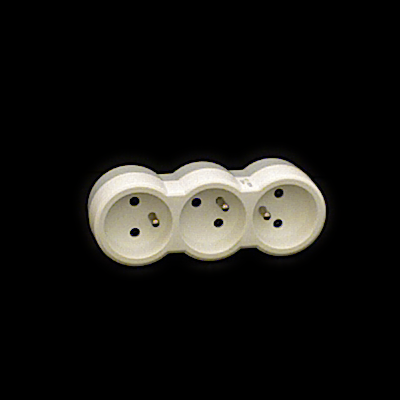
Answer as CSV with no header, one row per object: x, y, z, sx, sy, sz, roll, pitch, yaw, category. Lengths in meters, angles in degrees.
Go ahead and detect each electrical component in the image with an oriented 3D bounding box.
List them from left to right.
0.000,0.000,0.650,0.139,0.053,0.072,-3,21,-12,electrical component
